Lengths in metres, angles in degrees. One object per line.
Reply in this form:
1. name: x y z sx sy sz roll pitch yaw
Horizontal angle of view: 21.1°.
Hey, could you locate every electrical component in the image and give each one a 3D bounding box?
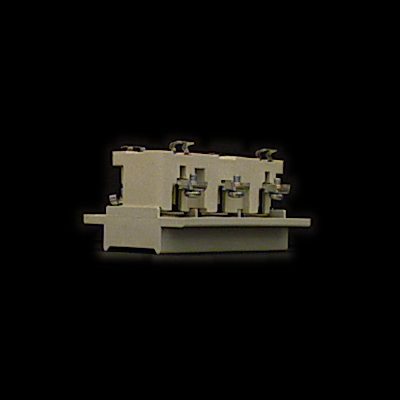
1. electrical component: 0.000 0.000 0.658 0.078 0.063 0.123 1 0 40
